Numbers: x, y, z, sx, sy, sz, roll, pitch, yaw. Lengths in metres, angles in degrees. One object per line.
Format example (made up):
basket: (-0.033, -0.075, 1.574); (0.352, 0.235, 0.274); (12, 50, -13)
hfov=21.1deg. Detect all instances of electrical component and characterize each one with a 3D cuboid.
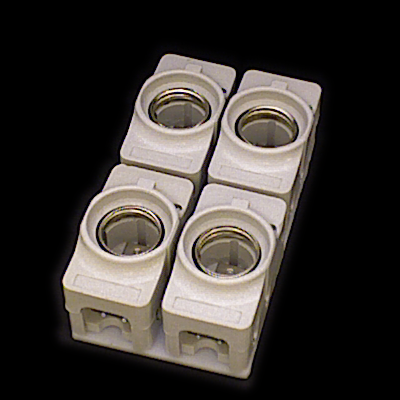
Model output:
electrical component: (0.000, 0.000, 0.627); (0.105, 0.186, 0.060); (13, -37, 9)
